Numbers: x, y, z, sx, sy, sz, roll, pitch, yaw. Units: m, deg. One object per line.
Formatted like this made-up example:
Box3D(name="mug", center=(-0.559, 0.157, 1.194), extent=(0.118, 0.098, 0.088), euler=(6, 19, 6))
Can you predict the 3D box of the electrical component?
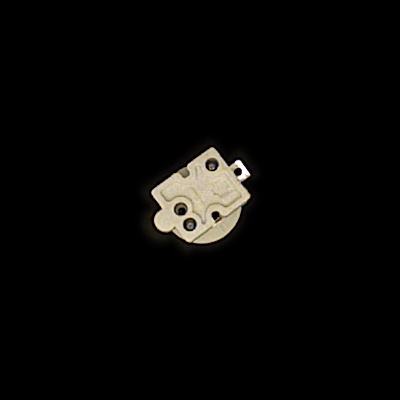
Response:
Box3D(name="electrical component", center=(0.000, 0.000, 0.638), extent=(0.066, 0.048, 0.055), euler=(-36, -6, -4))
